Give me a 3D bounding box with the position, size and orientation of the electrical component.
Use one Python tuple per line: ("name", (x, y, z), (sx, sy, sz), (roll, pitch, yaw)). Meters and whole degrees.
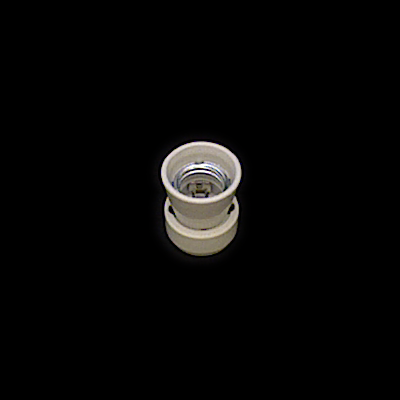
("electrical component", (0.000, 0.000, 0.630), (0.045, 0.044, 0.055), (0, -38, -1))
